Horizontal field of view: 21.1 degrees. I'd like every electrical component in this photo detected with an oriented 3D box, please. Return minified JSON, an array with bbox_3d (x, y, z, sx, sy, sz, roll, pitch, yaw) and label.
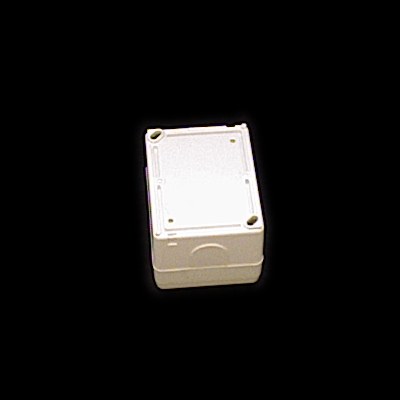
[{"bbox_3d":[0.000,0.000,0.630,0.062,0.096,0.061,-4,-38,-3],"label":"electrical component"}]
